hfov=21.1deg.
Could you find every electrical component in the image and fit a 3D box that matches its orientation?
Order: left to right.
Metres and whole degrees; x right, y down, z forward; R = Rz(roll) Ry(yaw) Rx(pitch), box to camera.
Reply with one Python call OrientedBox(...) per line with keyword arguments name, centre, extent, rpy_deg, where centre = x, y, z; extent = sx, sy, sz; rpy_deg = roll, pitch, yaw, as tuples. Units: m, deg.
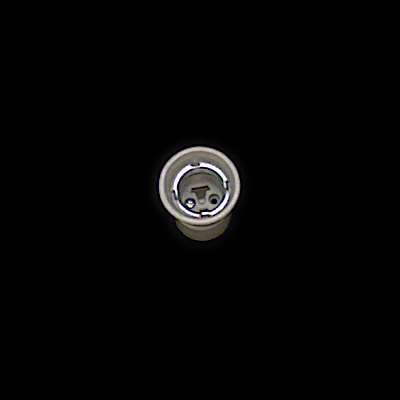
OrientedBox(name="electrical component", centre=(0.000, 0.000, 0.624), extent=(0.044, 0.044, 0.065), rpy_deg=(0, -16, 1))
